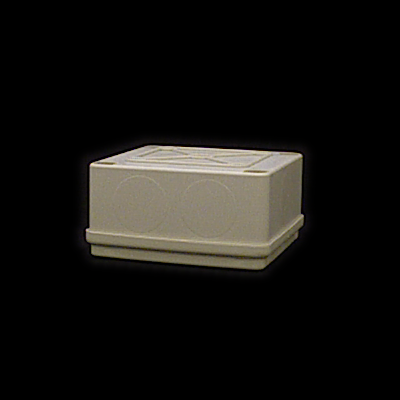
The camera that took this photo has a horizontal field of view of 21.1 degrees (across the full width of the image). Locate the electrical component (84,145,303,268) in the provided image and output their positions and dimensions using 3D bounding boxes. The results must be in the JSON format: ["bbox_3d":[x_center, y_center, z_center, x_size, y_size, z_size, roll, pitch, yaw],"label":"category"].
[{"bbox_3d":[0.000,0.000,0.646,0.108,0.056,0.108,4,10,16],"label":"electrical component"}]
